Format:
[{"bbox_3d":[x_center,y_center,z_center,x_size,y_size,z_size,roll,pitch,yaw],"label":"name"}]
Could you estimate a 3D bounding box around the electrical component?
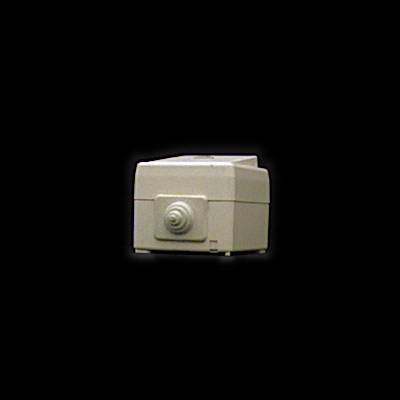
[{"bbox_3d":[0.000,0.000,0.648,0.061,0.061,0.096,1,0,19],"label":"electrical component"}]
